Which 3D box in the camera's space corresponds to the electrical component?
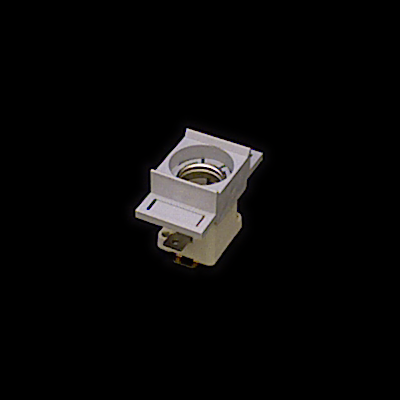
[{"bbox_3d":[0.000,0.000,0.627,0.042,0.064,0.080,20,45,19],"label":"electrical component"}]
